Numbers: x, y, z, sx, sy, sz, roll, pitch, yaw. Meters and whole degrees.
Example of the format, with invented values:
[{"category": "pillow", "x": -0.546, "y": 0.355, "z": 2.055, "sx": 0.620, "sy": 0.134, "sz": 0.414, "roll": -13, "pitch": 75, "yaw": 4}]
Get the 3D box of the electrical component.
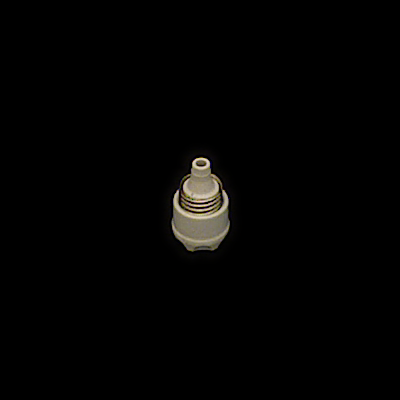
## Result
[{"category": "electrical component", "x": 0.000, "y": 0.000, "z": 0.644, "sx": 0.035, "sy": 0.062, "sz": 0.034, "roll": 0, "pitch": 44, "yaw": 0}]
